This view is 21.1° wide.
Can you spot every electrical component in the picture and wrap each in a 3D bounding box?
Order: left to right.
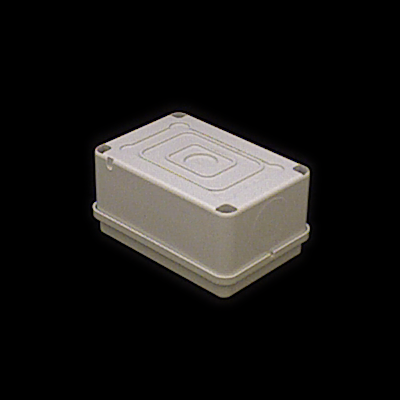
[{"bbox_3d":[0.000,0.000,0.635,0.112,0.058,0.078,27,40,35],"label":"electrical component"}]
